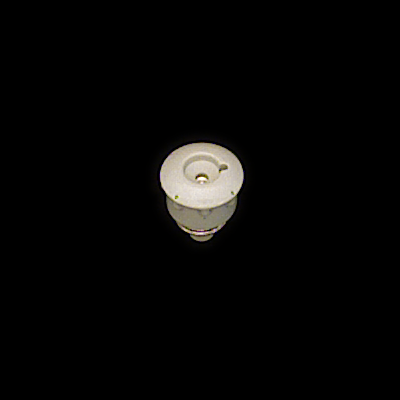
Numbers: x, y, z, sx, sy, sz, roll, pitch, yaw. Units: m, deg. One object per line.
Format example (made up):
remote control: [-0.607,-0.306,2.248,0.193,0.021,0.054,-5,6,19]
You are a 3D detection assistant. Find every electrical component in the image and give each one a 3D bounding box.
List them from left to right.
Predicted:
electrical component: [0.000,0.000,0.637,0.048,0.048,0.062,0,-37,0]
